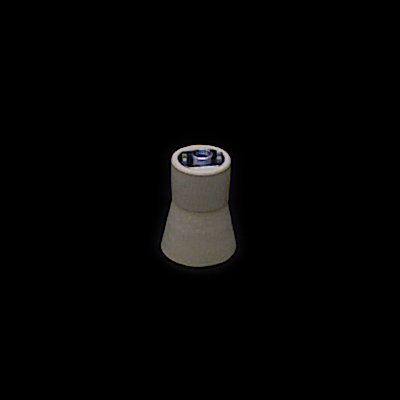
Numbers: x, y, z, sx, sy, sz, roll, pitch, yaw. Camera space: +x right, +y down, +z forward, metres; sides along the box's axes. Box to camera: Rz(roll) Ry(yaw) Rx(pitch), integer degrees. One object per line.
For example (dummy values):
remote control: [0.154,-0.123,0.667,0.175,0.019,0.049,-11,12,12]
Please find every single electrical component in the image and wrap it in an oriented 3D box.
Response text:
electrical component: [0.000,0.000,0.631,0.044,0.066,0.044,1,32,-1]
